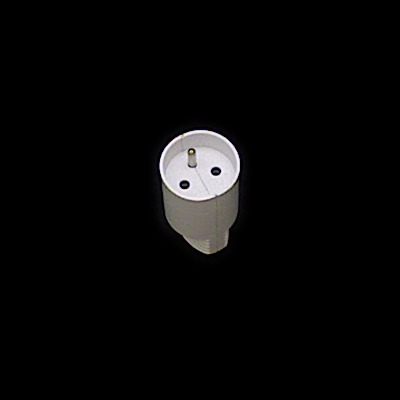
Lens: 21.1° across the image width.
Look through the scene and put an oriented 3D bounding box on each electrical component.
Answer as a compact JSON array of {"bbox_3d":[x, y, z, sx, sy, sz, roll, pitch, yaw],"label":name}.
[{"bbox_3d":[0.000,0.000,0.616,0.043,0.043,0.081,0,-28,0],"label":"electrical component"}]
